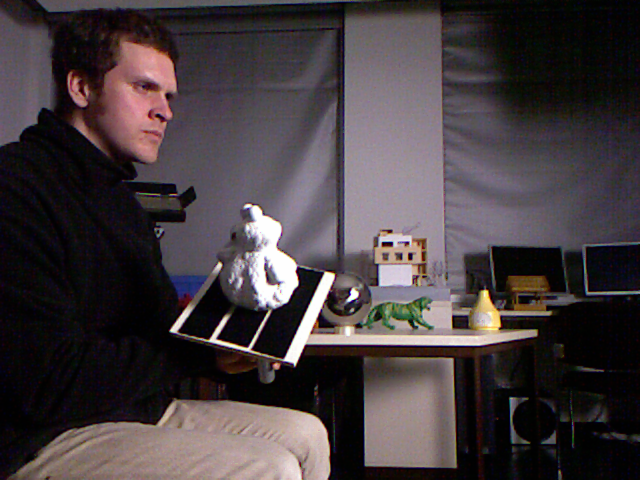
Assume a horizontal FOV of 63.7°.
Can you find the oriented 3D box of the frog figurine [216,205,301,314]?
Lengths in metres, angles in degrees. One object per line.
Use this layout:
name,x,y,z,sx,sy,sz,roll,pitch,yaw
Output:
frog figurine,-0.098,0.033,0.799,0.139,0.156,0.125,27,49,27
